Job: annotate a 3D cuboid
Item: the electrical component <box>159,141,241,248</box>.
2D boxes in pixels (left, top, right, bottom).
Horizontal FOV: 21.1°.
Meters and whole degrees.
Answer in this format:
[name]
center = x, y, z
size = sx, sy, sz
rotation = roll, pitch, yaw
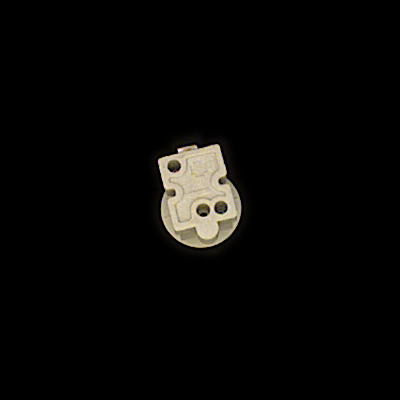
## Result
[electrical component]
center = 0.000, 0.000, 0.637
size = 0.048, 0.066, 0.055
rotation = -13, -16, -2
